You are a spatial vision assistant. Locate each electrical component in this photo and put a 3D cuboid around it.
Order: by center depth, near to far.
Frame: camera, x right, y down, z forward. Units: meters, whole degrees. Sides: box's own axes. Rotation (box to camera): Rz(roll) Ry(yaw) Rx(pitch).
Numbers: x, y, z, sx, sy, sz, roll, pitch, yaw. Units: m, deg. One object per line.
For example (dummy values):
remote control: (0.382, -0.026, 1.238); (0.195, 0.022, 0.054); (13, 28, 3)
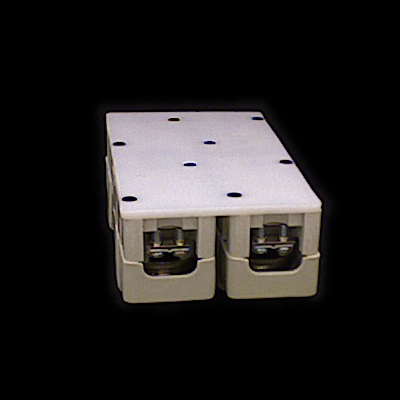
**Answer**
electrical component: (0.000, 0.000, 0.638); (0.105, 0.061, 0.183); (-2, 21, -7)
